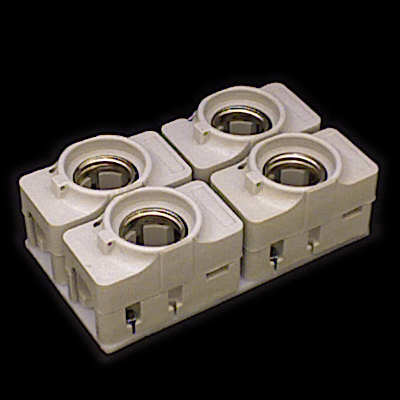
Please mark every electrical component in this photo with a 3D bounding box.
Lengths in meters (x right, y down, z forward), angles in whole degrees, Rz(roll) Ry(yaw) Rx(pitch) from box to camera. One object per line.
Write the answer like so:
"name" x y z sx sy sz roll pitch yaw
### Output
"electrical component" 0.000 0.000 0.629 0.186 0.061 0.104 -22 47 -24
